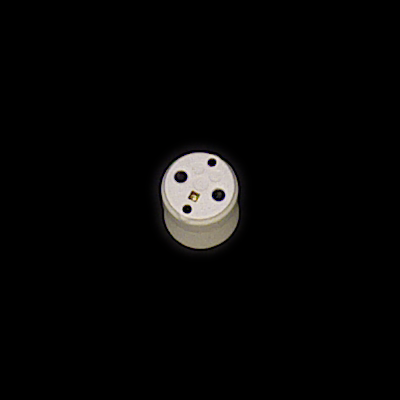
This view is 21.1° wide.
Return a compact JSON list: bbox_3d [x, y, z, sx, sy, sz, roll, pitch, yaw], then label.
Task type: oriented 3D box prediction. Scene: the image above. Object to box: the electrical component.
[{"bbox_3d":[0.000,0.000,0.629,0.045,0.045,0.055,0,-17,0],"label":"electrical component"}]
